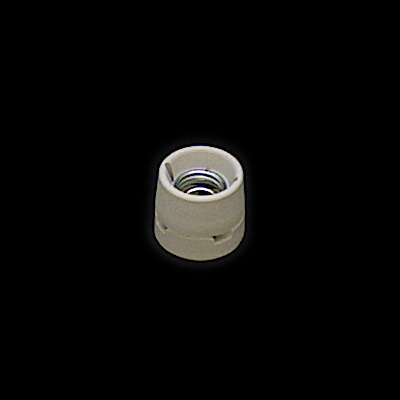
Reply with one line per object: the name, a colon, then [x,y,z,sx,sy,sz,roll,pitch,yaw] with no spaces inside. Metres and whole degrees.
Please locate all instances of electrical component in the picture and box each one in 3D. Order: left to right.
electrical component: [0.000,0.000,0.635,0.055,0.047,0.055,1,43,-1]
